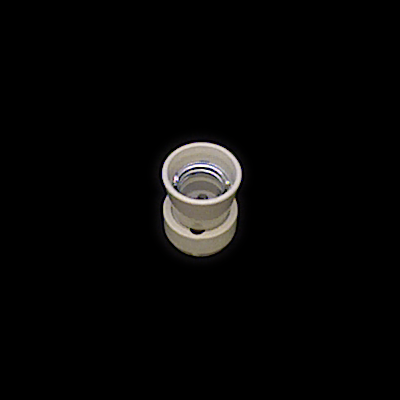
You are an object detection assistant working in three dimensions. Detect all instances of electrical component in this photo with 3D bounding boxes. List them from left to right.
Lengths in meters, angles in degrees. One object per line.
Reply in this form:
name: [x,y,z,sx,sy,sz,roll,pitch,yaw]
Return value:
electrical component: [0.000,0.000,0.630,0.045,0.044,0.055,0,-37,-1]
